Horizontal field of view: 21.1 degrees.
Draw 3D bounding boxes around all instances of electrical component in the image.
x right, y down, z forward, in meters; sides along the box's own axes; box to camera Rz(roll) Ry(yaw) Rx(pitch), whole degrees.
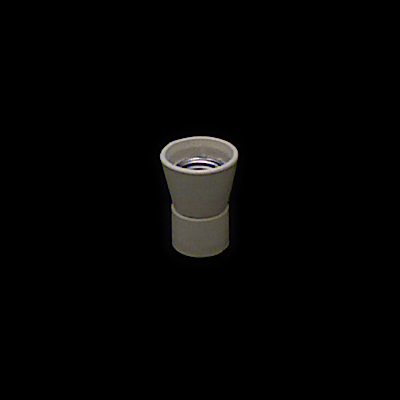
[{"bbox_3d":[0.000,0.000,0.633,0.044,0.066,0.044,0,31,0],"label":"electrical component"}]
